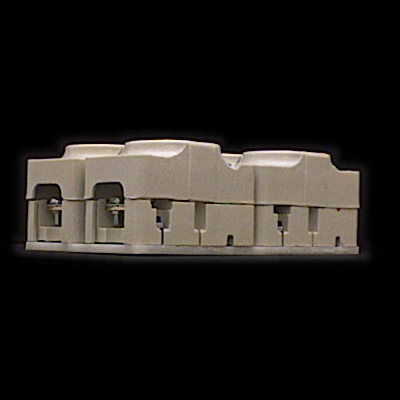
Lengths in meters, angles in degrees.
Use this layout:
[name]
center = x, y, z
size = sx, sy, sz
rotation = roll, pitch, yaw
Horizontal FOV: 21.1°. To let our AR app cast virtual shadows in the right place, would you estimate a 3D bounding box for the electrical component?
[electrical component]
center = 0.000, 0.000, 0.651
size = 0.187, 0.060, 0.105
rotation = 2, -1, -43
